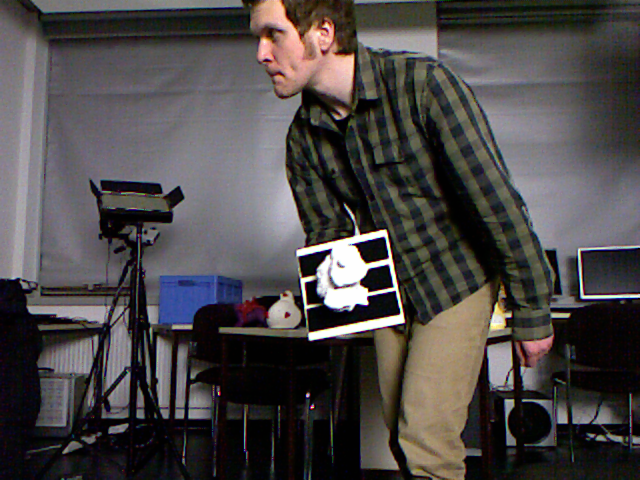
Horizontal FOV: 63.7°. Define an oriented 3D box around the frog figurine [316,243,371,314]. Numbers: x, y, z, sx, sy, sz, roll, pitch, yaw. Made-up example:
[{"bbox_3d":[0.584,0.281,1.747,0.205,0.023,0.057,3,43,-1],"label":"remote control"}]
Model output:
[{"bbox_3d":[0.039,0.072,1.013,0.123,0.139,0.158,10,-13,21],"label":"frog figurine"}]
